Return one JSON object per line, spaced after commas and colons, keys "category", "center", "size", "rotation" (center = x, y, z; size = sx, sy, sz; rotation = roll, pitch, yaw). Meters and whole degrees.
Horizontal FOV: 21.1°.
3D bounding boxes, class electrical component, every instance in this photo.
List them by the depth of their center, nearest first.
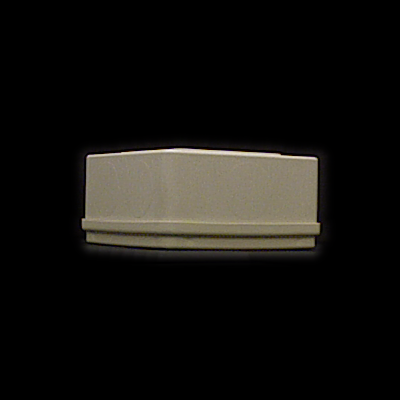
{"category": "electrical component", "center": [0.000, 0.000, 0.646], "size": [0.109, 0.056, 0.108], "rotation": [1, 0, -32]}
